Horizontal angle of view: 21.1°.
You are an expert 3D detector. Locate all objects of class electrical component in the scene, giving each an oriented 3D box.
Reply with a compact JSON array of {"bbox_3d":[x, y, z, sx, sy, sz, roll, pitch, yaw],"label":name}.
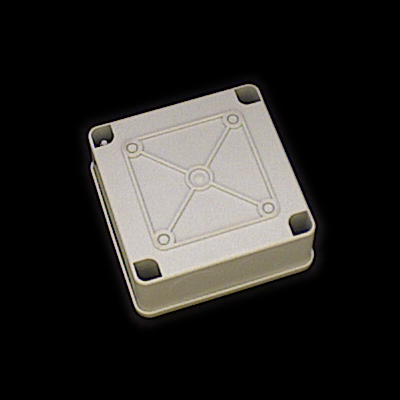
[{"bbox_3d":[0.000,0.000,0.627,0.109,0.108,0.056,-16,-26,-8],"label":"electrical component"}]
